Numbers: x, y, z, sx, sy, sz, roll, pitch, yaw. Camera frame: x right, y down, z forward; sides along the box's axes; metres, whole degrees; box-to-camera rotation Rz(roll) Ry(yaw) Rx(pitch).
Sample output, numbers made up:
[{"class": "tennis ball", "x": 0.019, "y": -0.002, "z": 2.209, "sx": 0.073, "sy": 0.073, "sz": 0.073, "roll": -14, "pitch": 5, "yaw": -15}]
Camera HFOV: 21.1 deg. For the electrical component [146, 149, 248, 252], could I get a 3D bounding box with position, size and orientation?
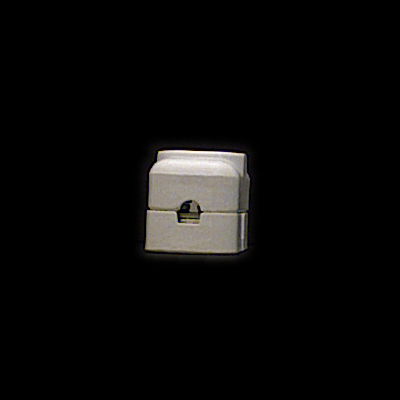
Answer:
[{"class": "electrical component", "x": 0.000, "y": 0.000, "z": 0.657, "sx": 0.053, "sy": 0.059, "sz": 0.095, "roll": 2, "pitch": 0, "yaw": 6}]
